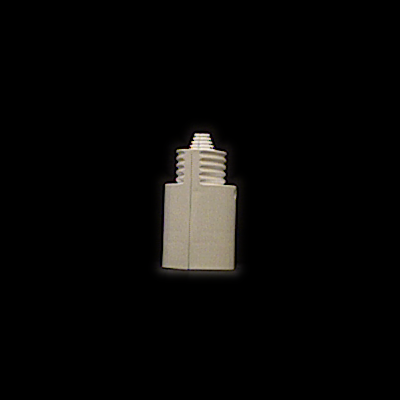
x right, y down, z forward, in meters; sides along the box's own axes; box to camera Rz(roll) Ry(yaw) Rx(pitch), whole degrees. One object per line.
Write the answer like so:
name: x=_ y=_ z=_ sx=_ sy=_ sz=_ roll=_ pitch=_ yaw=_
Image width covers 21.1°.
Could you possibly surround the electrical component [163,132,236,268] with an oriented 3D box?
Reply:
electrical component: x=0.000 y=0.000 z=0.649 sx=0.043 sy=0.081 sz=0.043 roll=1 pitch=1 yaw=0
